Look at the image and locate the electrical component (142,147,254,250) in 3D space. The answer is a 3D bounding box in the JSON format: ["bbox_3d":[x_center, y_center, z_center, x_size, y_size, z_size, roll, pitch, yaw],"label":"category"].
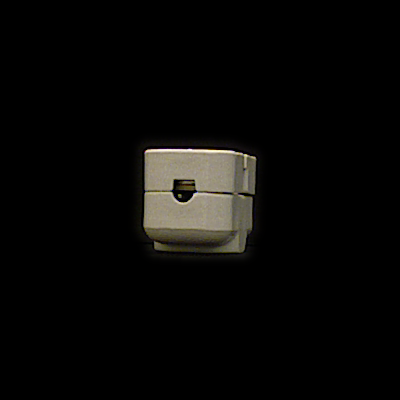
[{"bbox_3d":[0.000,0.000,0.658,0.053,0.059,0.095,2,0,12],"label":"electrical component"}]
